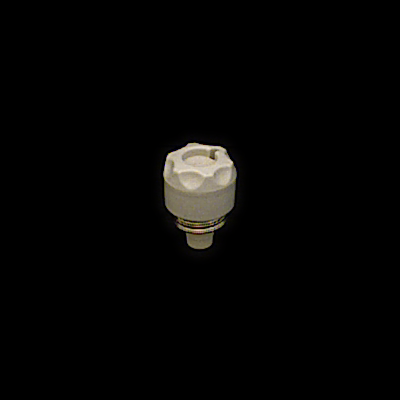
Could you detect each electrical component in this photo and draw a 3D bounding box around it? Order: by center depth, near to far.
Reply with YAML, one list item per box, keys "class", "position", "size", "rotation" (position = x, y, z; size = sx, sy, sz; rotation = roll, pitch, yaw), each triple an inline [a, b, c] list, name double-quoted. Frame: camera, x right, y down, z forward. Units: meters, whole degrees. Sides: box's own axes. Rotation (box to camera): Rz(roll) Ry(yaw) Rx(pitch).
- class: "electrical component"
  position: [0.000, 0.000, 0.640]
  size: [0.043, 0.063, 0.043]
  rotation: [1, 33, 0]
